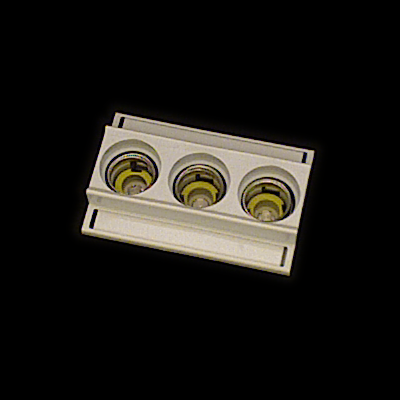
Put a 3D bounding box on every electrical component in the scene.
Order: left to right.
[{"bbox_3d":[0.000,0.000,0.637,0.121,0.078,0.063,11,-25,6],"label":"electrical component"}]
